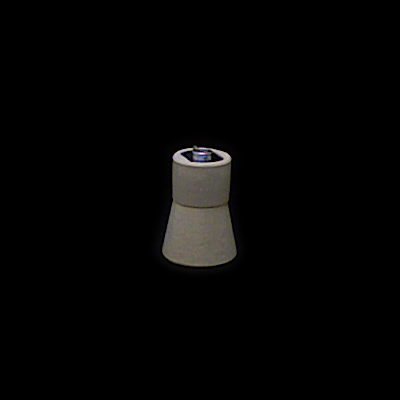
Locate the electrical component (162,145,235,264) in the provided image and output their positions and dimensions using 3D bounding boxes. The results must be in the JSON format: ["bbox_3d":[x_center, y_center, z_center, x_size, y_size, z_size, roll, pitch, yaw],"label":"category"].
[{"bbox_3d":[0.000,0.000,0.638,0.044,0.066,0.044,2,21,-1],"label":"electrical component"}]
